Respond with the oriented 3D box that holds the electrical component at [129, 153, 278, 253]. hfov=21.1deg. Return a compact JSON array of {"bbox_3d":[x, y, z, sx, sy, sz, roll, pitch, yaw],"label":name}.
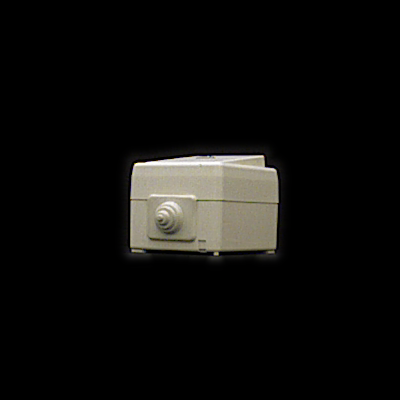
[{"bbox_3d":[0.000,0.000,0.648,0.061,0.061,0.096,1,0,29],"label":"electrical component"}]
